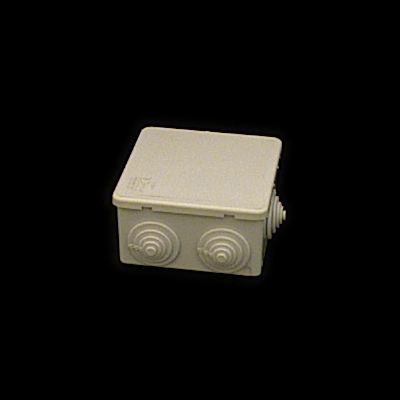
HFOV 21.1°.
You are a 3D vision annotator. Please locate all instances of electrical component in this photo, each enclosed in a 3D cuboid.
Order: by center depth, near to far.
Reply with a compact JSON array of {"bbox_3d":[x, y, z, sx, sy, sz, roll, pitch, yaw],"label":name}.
[{"bbox_3d":[0.000,0.000,0.643,0.099,0.049,0.099,6,33,7],"label":"electrical component"}]
